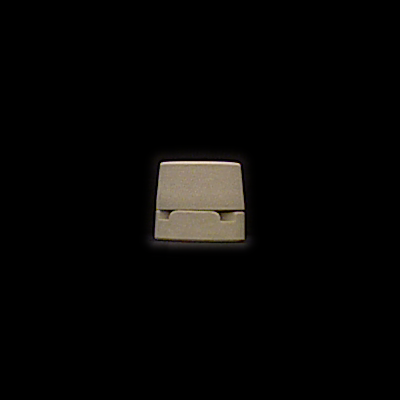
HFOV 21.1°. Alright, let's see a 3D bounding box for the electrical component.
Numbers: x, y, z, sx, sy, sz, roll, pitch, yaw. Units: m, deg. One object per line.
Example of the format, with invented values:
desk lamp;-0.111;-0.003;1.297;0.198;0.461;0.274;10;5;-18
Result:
electrical component;0.000;0.000;0.650;0.055;0.047;0.055;1;0;0
